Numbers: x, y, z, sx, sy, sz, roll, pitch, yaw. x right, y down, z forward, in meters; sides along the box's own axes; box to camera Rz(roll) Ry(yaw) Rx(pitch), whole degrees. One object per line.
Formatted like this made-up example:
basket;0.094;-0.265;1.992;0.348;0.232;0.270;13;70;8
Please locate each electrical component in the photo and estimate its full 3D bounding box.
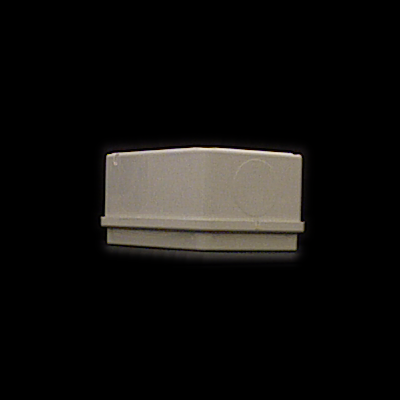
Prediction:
electrical component;0.000;0.000;0.649;0.078;0.057;0.113;1;0;-35
